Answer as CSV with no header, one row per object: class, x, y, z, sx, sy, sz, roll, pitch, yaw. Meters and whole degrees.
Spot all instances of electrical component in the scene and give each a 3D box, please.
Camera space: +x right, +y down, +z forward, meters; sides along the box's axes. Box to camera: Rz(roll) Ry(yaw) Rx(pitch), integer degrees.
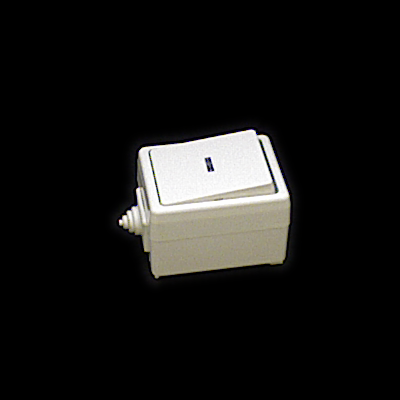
electrical component,0.000,0.000,0.630,0.096,0.061,0.061,-6,42,-8
